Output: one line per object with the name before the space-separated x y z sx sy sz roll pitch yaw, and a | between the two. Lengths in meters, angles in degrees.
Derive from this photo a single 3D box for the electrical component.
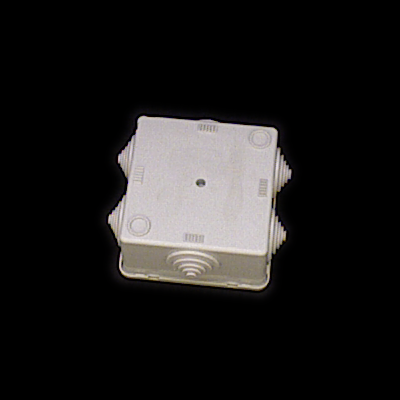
electrical component | 0.000 0.000 0.632 0.100 0.100 0.048 6 -27 2
